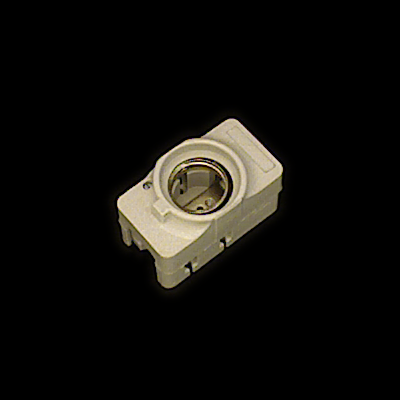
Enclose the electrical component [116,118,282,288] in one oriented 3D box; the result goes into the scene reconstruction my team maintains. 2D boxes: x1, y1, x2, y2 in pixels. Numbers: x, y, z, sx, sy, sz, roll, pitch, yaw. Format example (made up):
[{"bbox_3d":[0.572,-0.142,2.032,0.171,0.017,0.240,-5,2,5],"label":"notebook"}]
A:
[{"bbox_3d":[0.000,0.000,0.636,0.090,0.050,0.055,-37,-21,-17],"label":"electrical component"}]
